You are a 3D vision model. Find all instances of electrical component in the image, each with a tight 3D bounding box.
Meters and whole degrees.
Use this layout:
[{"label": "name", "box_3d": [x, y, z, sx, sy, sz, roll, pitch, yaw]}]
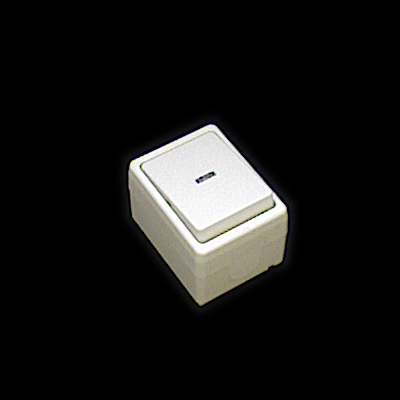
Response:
[{"label": "electrical component", "box_3d": [0.000, 0.000, 0.629, 0.062, 0.096, 0.061, -27, -33, -20]}]
